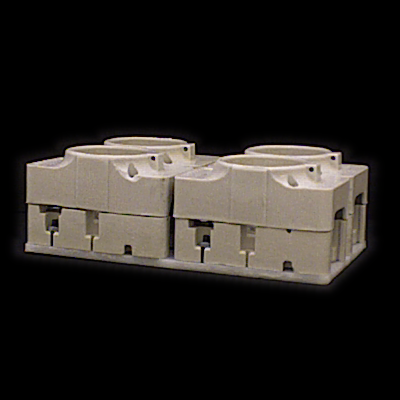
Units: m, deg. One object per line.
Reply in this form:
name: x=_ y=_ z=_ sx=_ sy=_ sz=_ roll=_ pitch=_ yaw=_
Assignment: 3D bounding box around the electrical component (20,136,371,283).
electrical component: x=0.000 y=0.000 z=0.645 sx=0.186 sy=0.061 sz=0.105 roll=5 pitch=11 yaw=20
